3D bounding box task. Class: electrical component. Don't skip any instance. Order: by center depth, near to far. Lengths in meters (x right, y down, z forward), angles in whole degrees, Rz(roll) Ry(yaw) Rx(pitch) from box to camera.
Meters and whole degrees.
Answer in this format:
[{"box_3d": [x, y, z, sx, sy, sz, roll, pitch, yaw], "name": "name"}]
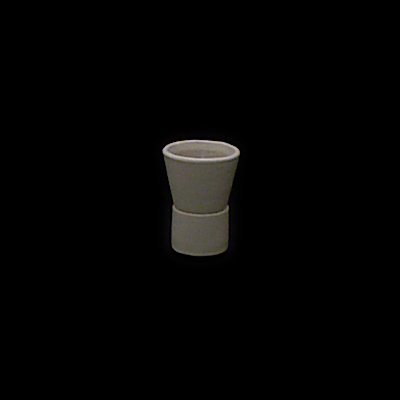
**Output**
[{"box_3d": [0.000, 0.000, 0.640, 0.044, 0.066, 0.044, 1, 20, 0], "name": "electrical component"}]
